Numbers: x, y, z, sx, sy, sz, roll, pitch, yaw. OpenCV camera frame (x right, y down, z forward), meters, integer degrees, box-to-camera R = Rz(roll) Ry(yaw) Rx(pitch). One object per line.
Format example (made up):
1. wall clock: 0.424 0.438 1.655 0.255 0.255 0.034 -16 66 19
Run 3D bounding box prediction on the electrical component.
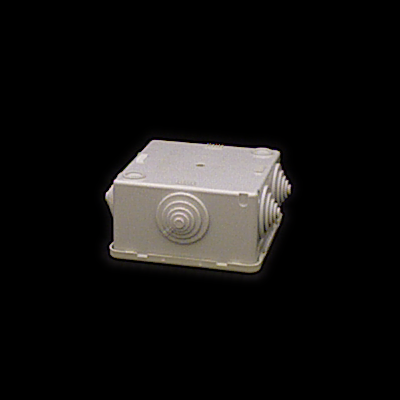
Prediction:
1. electrical component: 0.000 0.000 0.640 0.099 0.049 0.099 6 21 12
